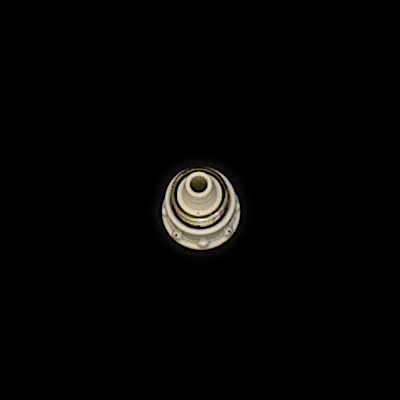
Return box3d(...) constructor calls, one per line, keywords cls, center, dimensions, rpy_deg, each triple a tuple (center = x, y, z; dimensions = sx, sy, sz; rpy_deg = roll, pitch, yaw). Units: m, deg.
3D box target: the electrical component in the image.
box3d(cls="electrical component", center=(0.000, 0.000, 0.634), dimensions=(0.048, 0.048, 0.061), rpy_deg=(0, -17, 0))
